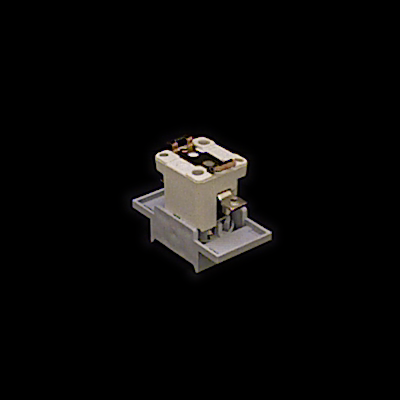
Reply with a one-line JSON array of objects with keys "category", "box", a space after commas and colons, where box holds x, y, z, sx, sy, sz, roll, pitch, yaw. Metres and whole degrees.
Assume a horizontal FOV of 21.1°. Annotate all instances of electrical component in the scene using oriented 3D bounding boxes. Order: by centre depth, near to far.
[{"category": "electrical component", "box": [0.000, 0.000, 0.634, 0.042, 0.064, 0.080, -24, 39, -34]}]
